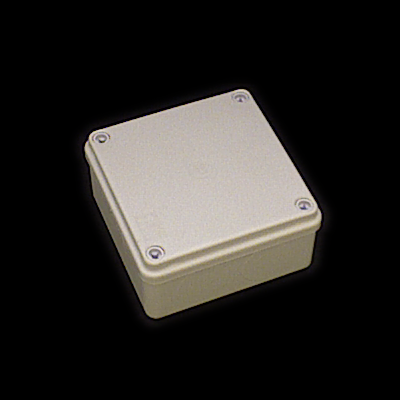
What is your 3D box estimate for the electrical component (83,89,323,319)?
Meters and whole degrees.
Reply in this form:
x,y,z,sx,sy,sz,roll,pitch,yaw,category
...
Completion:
x,y,z,sx,sy,sz,roll,pitch,yaw,category
0.000,0.000,0.631,0.109,0.108,0.056,-18,-36,-14,electrical component
